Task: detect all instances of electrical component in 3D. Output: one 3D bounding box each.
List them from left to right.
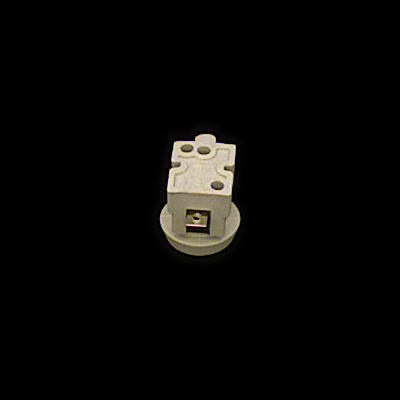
[{"bbox_3d":[0.000,0.000,0.641,0.048,0.056,0.066,4,44,3],"label":"electrical component"}]
